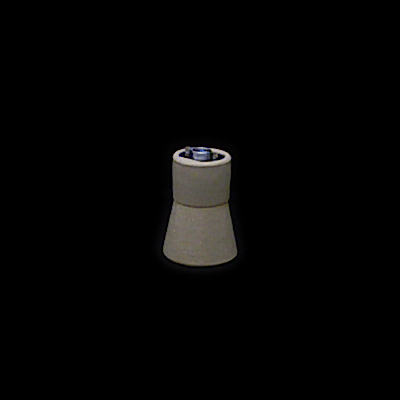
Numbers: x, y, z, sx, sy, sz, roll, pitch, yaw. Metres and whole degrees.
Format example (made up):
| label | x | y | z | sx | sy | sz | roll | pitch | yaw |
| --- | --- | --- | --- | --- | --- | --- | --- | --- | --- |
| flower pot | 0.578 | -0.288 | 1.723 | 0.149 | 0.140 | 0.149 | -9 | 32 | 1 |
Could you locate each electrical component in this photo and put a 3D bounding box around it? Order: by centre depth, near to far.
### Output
| label | x | y | z | sx | sy | sz | roll | pitch | yaw |
| --- | --- | --- | --- | --- | --- | --- | --- | --- | --- |
| electrical component | 0.000 | 0.000 | 0.639 | 0.044 | 0.066 | 0.044 | 1 | 20 | 0 |
